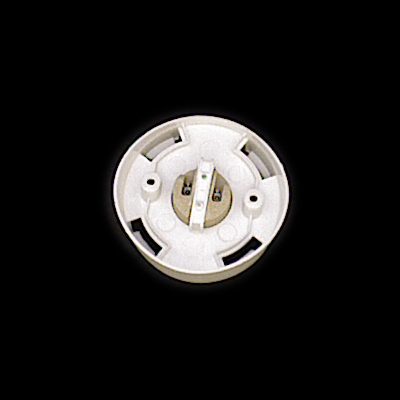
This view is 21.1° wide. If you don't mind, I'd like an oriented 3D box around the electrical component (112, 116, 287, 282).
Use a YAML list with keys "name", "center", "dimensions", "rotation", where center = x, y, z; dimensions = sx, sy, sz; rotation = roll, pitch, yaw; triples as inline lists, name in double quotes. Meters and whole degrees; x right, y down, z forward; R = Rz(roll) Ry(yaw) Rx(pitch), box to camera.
- name: "electrical component"
  center: [0.000, 0.000, 0.623]
  dimensions: [0.099, 0.099, 0.064]
  rotation: [0, -16, 0]
